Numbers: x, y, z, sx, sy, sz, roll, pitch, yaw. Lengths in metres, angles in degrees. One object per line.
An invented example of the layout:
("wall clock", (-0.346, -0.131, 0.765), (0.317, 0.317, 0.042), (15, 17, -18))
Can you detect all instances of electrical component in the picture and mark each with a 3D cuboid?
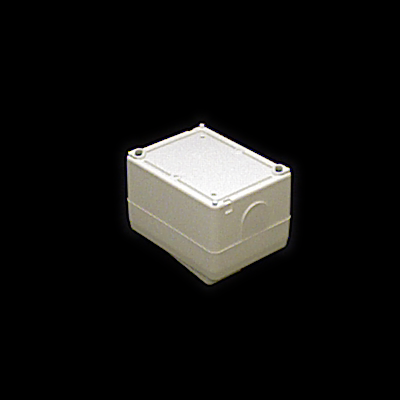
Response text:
("electrical component", (0.000, 0.000, 0.638), (0.062, 0.062, 0.095), (-25, 40, -35))
